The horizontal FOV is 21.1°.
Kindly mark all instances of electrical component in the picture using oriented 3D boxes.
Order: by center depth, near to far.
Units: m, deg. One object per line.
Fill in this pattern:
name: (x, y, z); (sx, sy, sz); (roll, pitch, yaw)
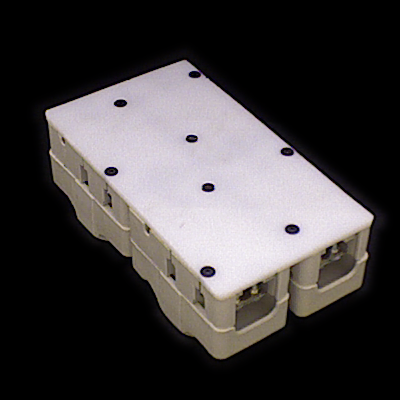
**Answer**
electrical component: (0.000, 0.000, 0.630); (0.105, 0.061, 0.184); (-25, 48, -25)
